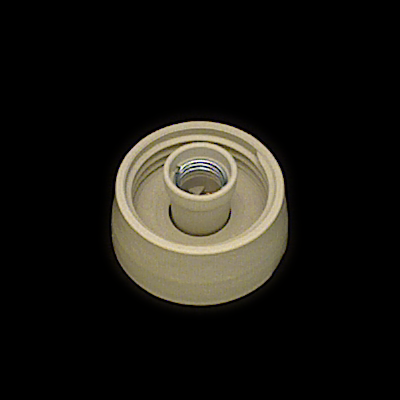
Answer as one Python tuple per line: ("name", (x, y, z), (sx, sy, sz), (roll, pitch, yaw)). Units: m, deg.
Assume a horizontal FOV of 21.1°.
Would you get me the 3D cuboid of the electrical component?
("electrical component", (0.000, 0.000, 0.635), (0.108, 0.107, 0.060), (0, -37, -1))
